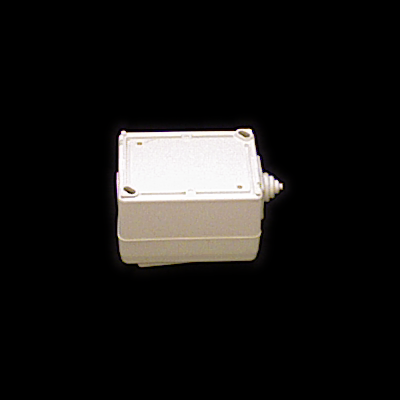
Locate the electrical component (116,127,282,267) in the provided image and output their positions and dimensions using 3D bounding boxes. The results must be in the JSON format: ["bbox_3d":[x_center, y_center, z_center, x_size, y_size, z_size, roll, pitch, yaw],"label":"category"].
[{"bbox_3d":[0.000,0.000,0.630,0.096,0.061,0.061,-1,42,-3],"label":"electrical component"}]
